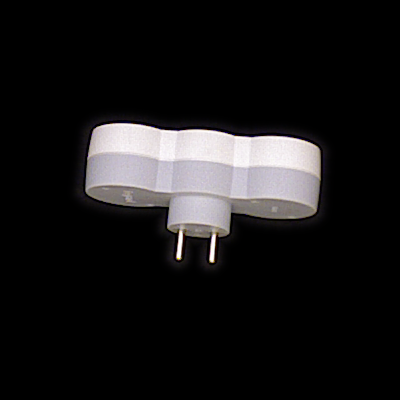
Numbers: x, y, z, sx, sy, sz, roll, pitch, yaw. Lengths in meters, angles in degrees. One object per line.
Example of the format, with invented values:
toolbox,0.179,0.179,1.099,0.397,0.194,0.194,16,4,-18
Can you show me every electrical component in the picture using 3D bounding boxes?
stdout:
electrical component,0.000,0.000,0.631,0.138,0.074,0.052,5,-15,1
